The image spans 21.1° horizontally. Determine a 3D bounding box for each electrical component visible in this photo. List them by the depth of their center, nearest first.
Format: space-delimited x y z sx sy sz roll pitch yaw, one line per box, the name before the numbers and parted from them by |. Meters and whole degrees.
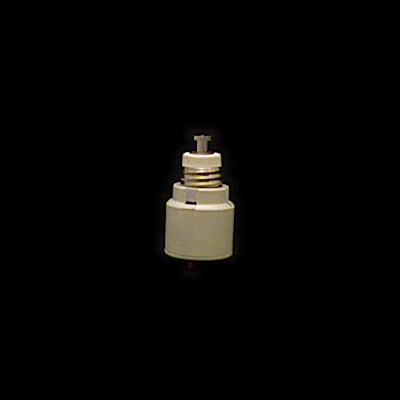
electrical component | 0.000 0.000 0.643 0.040 0.079 0.040 2 11 0
